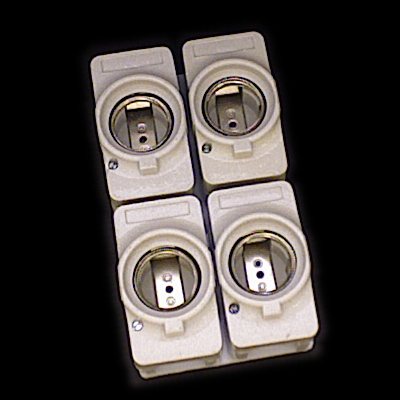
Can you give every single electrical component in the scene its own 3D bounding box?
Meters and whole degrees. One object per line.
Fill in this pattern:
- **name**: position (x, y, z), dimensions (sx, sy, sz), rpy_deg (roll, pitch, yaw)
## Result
- **electrical component**: position (0.000, 0.000, 0.625), dimensions (0.105, 0.187, 0.060), rpy_deg (-9, -17, -3)
